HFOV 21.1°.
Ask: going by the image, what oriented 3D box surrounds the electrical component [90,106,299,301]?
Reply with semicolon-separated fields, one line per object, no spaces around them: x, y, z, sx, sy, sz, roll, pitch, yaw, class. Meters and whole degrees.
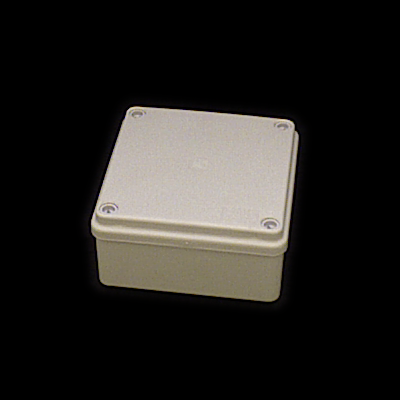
0.000;0.000;0.633;0.108;0.057;0.108;5;42;5;electrical component
